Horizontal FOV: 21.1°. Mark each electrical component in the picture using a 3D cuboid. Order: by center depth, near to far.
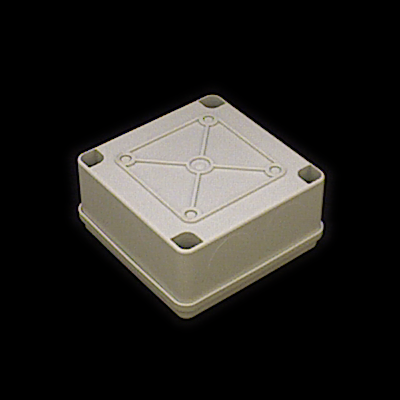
[{"bbox_3d":[0.000,0.000,0.631,0.109,0.056,0.107,-28,49,-28],"label":"electrical component"}]
